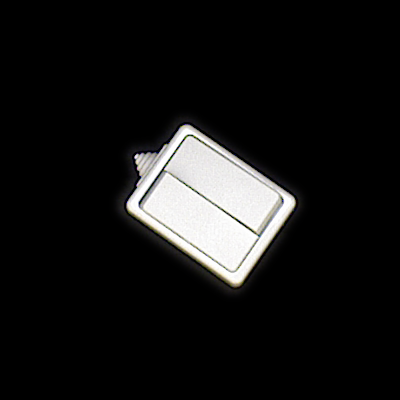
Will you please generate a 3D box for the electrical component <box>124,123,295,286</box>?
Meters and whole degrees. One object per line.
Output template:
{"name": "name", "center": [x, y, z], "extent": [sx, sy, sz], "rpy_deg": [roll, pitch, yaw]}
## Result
{"name": "electrical component", "center": [0.000, 0.000, 0.627], "extent": [0.096, 0.062, 0.061], "rpy_deg": [35, -5, 4]}
